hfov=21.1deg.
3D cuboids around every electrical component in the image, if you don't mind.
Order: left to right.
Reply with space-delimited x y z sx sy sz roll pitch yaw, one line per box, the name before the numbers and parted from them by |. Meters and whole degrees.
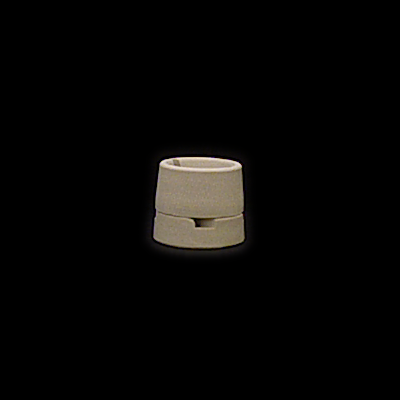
electrical component | 0.000 0.000 0.644 0.055 0.047 0.055 2 12 0
